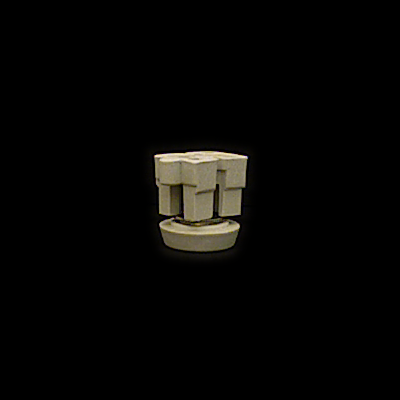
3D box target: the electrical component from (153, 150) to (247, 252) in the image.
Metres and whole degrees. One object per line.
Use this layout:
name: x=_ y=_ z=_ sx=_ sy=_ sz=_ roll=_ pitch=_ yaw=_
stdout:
electrical component: x=0.000 y=0.000 z=0.650 sx=0.067 sy=0.056 sz=0.048 roll=-9 pitch=14 yaw=-43
